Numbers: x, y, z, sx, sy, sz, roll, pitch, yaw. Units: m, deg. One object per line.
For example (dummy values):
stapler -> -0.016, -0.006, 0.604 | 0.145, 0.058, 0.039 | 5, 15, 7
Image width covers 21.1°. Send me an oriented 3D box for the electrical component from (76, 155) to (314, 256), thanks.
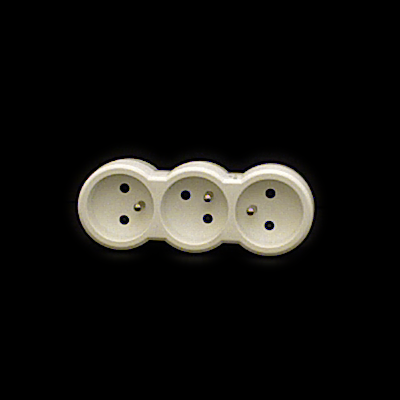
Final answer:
electrical component -> 0.000, 0.000, 0.655 | 0.138, 0.052, 0.073 | 2, 10, 5
